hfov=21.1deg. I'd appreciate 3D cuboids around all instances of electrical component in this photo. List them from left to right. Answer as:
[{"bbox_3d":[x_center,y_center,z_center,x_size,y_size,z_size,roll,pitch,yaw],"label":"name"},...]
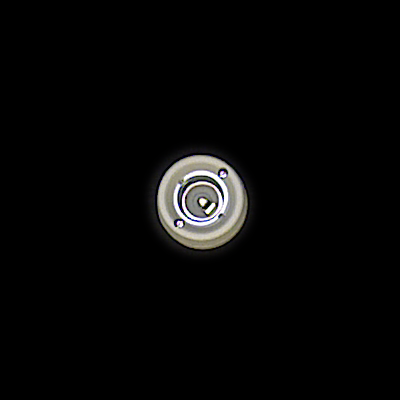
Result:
[{"bbox_3d":[0.000,0.000,0.633,0.055,0.055,0.047,0,-6,1],"label":"electrical component"}]
